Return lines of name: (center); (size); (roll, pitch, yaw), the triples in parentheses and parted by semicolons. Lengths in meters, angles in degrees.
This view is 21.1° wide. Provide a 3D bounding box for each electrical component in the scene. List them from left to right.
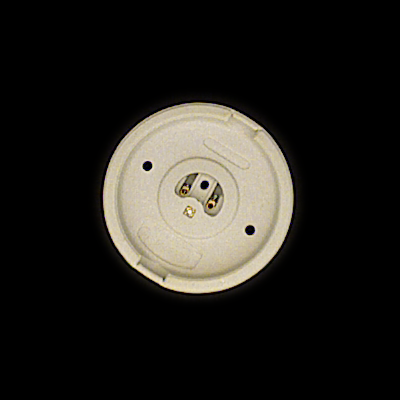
electrical component: (0.000, 0.000, 0.635); (0.108, 0.108, 0.060); (0, -6, 0)
